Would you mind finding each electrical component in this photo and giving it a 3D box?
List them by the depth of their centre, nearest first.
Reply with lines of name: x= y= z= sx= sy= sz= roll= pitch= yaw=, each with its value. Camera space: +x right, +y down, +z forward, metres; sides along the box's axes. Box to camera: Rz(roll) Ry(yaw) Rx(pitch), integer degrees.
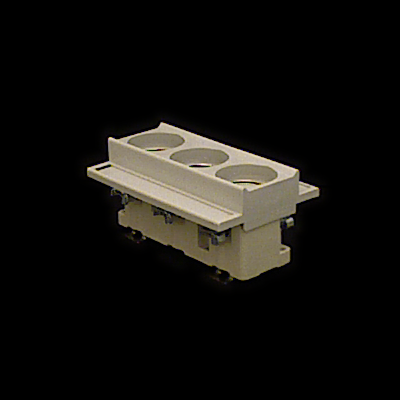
electrical component: x=0.000 y=0.000 z=0.650 sx=0.078 sy=0.064 sz=0.120 roll=-19 pitch=29 yaw=-38
